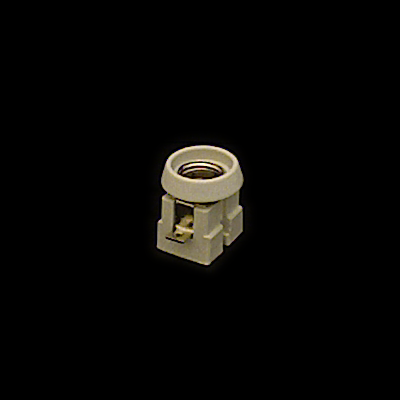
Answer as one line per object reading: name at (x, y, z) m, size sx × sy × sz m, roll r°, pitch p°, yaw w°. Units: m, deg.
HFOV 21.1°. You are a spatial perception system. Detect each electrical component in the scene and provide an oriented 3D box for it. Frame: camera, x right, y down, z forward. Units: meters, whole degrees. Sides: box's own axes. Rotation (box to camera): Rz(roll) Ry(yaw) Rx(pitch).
electrical component at (0.000, 0.000, 0.642) m, size 0.048 × 0.056 × 0.066 m, roll 15°, pitch 35°, yaw 24°
